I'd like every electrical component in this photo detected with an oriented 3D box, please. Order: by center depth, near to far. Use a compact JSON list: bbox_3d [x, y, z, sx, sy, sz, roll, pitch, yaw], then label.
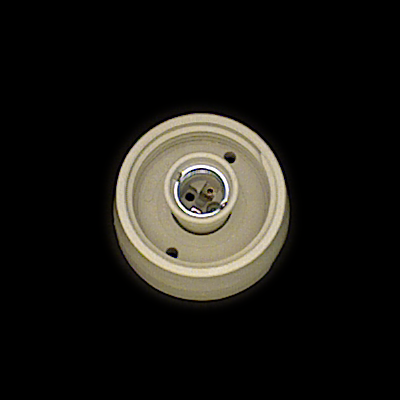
[{"bbox_3d":[0.000,0.000,0.633,0.108,0.108,0.060,0,-16,0],"label":"electrical component"}]
